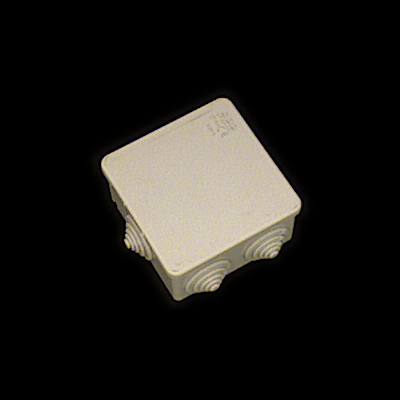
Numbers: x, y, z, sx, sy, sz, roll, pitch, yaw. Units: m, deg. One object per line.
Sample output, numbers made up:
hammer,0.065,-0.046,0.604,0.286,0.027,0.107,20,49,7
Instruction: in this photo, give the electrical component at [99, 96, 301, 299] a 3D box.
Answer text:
electrical component,0.000,0.000,0.641,0.100,0.099,0.048,-28,-23,-13
